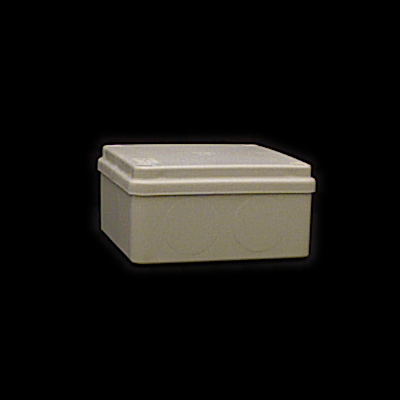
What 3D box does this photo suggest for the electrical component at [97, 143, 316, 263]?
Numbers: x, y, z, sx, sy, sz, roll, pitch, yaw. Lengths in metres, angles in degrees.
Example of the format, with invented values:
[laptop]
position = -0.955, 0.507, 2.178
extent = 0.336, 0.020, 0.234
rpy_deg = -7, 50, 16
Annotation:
[electrical component]
position = 0.000, 0.000, 0.646
extent = 0.109, 0.056, 0.108
rpy_deg = -1, 10, -16
